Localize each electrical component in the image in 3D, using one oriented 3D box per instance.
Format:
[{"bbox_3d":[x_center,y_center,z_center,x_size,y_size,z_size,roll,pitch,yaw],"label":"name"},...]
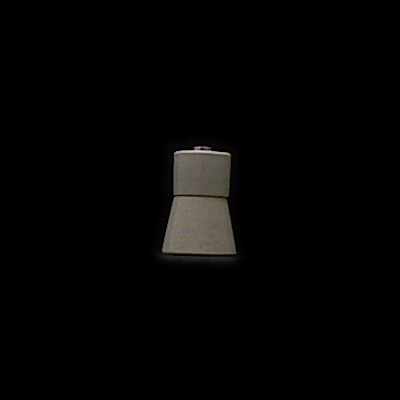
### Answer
[{"bbox_3d":[0.000,0.000,0.649,0.044,0.065,0.044,2,1,0],"label":"electrical component"}]
